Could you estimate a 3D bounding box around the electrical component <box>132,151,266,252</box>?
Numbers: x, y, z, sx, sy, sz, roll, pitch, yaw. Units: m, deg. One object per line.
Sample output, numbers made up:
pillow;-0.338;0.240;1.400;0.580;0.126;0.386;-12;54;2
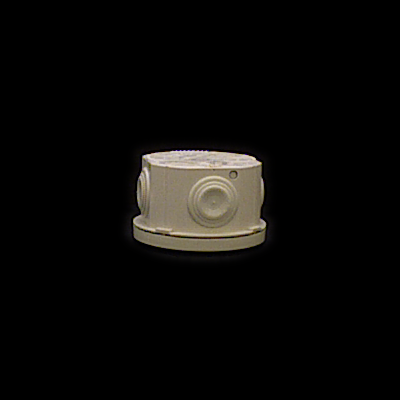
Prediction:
electrical component;0.000;0.000;0.645;0.080;0.051;0.079;2;11;0
